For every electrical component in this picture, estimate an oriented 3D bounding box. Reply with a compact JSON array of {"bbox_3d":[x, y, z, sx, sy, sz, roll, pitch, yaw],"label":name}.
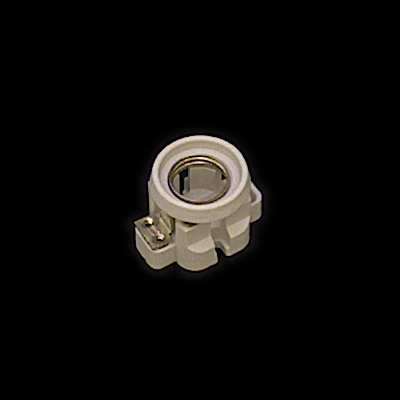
[{"bbox_3d":[0.000,0.000,0.628,0.079,0.057,0.057,-26,-33,-19],"label":"electrical component"}]
